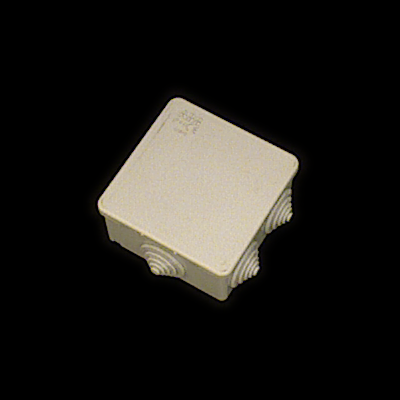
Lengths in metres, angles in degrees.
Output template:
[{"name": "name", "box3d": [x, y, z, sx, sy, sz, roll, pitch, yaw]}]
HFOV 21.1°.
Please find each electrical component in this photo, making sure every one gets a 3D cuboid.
[{"name": "electrical component", "box3d": [0.000, 0.000, 0.640, 0.099, 0.100, 0.048, 28, -23, 13]}]
